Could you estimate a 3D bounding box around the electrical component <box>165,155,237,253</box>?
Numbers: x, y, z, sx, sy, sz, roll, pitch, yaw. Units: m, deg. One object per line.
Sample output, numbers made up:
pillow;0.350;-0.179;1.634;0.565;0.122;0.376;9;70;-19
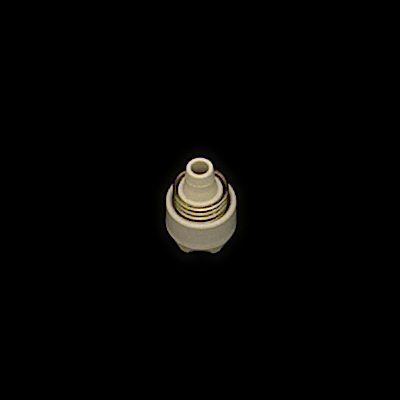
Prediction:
electrical component;0.000;0.000;0.636;0.043;0.043;0.062;0;-38;0
